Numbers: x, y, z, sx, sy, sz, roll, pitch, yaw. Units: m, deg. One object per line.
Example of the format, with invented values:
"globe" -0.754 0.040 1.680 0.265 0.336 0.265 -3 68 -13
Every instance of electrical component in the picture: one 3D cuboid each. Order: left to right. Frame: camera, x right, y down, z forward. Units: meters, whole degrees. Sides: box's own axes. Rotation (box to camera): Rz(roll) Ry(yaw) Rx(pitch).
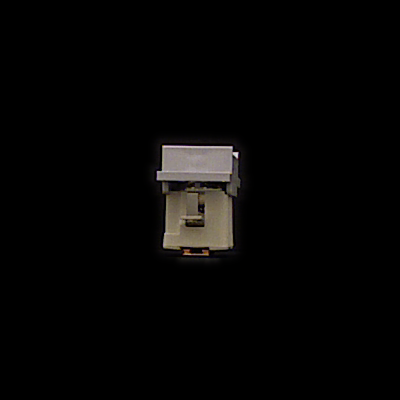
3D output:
"electrical component" 0.000 0.000 0.647 0.042 0.064 0.081 2 0 7
